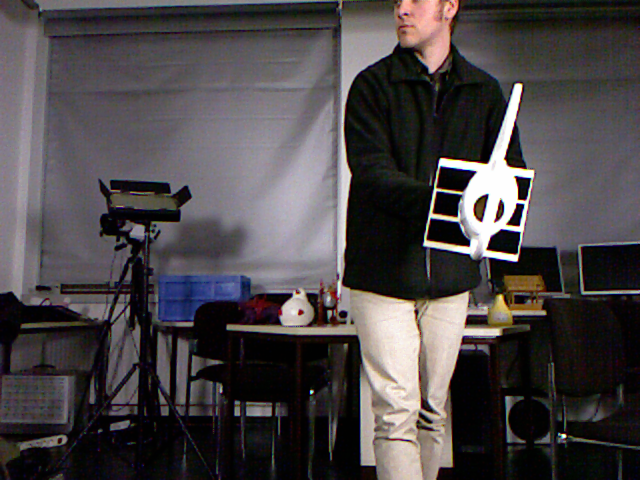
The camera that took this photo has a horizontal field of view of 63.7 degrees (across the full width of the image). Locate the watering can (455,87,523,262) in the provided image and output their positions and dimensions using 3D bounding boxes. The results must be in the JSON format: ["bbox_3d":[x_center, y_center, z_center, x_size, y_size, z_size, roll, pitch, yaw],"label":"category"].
[{"bbox_3d":[0.360,-0.126,1.080,0.104,0.348,0.224,13,1,7],"label":"watering can"}]
